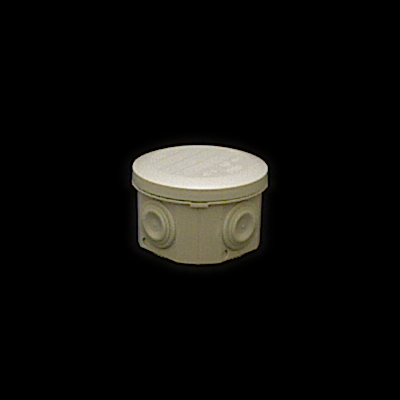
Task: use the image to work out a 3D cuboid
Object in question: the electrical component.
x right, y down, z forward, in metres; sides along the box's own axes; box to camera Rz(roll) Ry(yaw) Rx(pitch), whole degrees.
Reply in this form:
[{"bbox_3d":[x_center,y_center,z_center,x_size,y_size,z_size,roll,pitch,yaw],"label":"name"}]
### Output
[{"bbox_3d":[0.000,0.000,0.638,0.080,0.051,0.079,1,21,0],"label":"electrical component"}]
